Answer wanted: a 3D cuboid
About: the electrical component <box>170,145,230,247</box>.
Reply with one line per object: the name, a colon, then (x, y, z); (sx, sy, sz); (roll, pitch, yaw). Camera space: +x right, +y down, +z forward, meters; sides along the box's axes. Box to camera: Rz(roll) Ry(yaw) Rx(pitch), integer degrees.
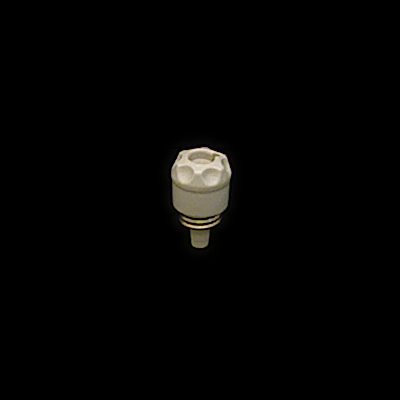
electrical component: (0.000, 0.000, 0.641); (0.035, 0.062, 0.034); (1, 33, 0)
